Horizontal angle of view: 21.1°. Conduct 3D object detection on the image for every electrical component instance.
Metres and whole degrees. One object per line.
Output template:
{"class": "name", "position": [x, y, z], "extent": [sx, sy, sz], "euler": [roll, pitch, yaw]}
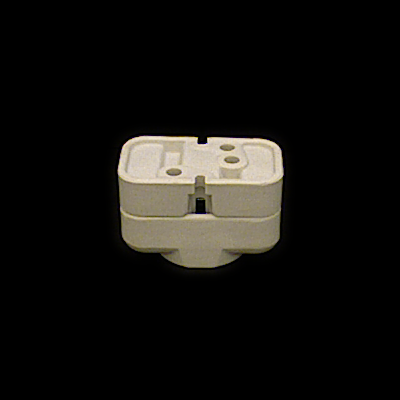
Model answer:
{"class": "electrical component", "position": [0.000, 0.000, 0.643], "extent": [0.095, 0.060, 0.053], "euler": [1, 32, 0]}
